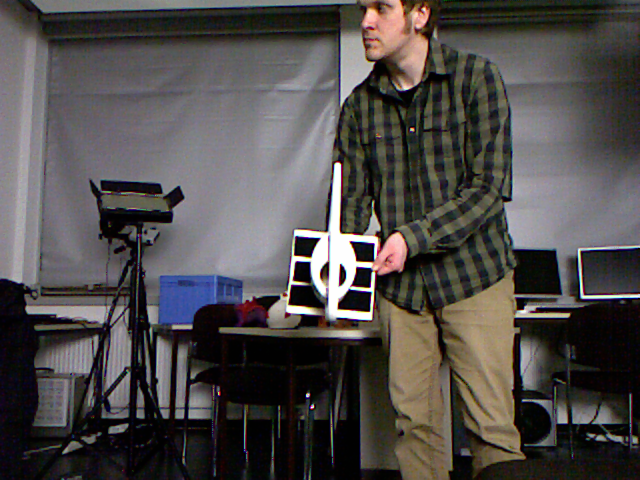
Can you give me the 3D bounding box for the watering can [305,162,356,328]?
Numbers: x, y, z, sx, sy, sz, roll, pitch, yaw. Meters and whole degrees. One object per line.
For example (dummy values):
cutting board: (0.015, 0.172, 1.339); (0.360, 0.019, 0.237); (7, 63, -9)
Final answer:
watering can: (0.026, 0.018, 1.153); (0.104, 0.351, 0.223); (4, -9, -5)
